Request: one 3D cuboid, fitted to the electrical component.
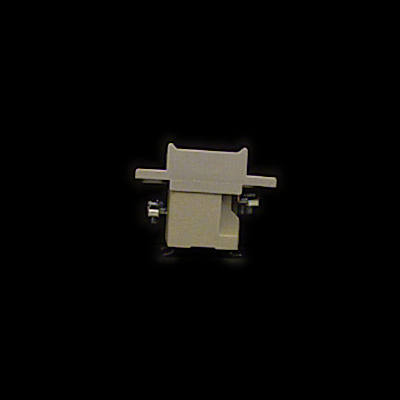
[{"bbox_3d":[0.000,0.000,0.663,0.079,0.063,0.121,2,0,-2],"label":"electrical component"}]
